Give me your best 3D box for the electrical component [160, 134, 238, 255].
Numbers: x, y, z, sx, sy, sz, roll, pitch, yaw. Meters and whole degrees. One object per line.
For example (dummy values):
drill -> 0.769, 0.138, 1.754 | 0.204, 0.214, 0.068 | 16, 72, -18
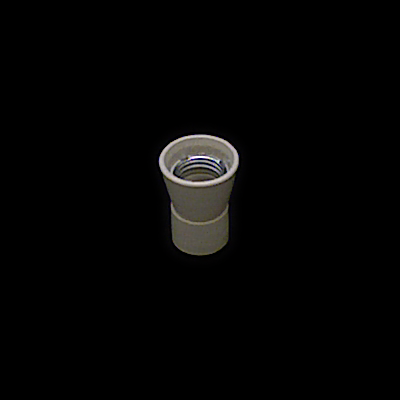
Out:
electrical component -> 0.000, 0.000, 0.628 | 0.044, 0.066, 0.044 | 0, 43, 0
